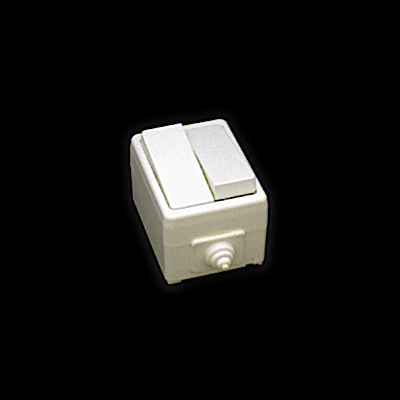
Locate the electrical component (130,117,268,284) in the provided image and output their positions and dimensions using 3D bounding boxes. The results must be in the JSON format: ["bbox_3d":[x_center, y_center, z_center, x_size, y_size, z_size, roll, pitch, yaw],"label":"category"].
[{"bbox_3d":[0.000,0.000,0.629,0.062,0.061,0.095,-11,43,-13],"label":"electrical component"}]
